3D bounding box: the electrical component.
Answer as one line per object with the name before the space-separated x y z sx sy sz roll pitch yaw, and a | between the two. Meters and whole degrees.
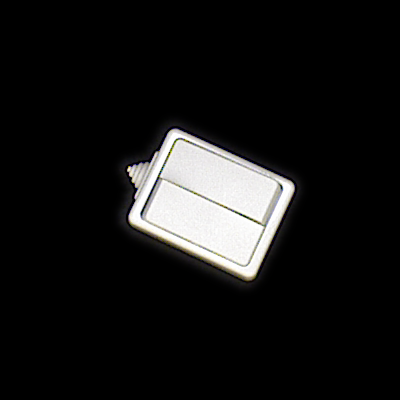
electrical component | 0.000 0.000 0.627 0.096 0.062 0.061 25 -6 3
